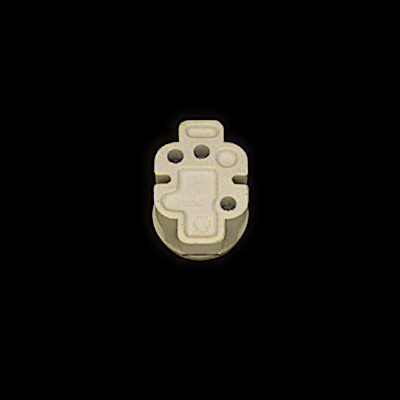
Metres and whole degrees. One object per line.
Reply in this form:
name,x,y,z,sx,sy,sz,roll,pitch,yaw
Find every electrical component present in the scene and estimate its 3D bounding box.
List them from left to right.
electrical component,0.000,0.000,0.635,0.058,0.078,0.056,-1,-25,-1
